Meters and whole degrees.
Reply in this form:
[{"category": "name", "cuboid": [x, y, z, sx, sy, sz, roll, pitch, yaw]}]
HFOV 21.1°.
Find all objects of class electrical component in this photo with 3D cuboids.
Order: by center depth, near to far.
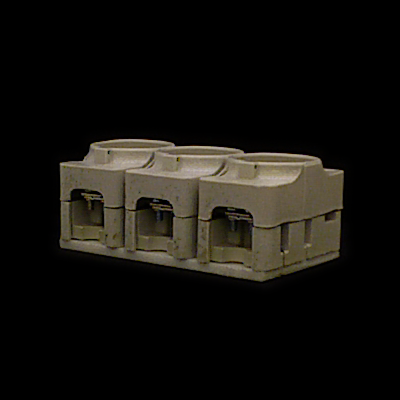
[{"category": "electrical component", "cuboid": [0.000, 0.000, 0.649, 0.149, 0.062, 0.089, 7, 12, 34]}]
